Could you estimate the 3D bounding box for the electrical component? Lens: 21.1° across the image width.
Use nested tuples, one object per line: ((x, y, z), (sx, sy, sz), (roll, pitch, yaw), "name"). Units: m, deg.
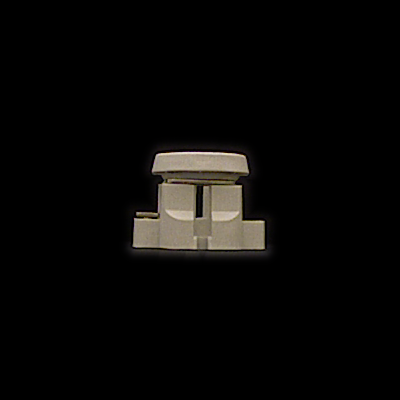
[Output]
((0.000, 0.000, 0.648), (0.078, 0.057, 0.058), (1, 1, -5), "electrical component")
